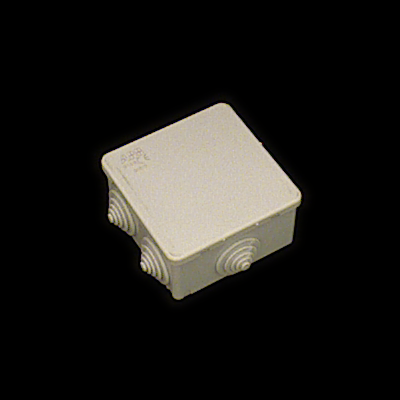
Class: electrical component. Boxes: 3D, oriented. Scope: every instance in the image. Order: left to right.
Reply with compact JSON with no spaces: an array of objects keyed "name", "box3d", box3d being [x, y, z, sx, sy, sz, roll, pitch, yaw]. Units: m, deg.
[{"name":"electrical component","box3d":[0.000,0.000,0.640,0.100,0.099,0.048,-25,-32,-18]}]
